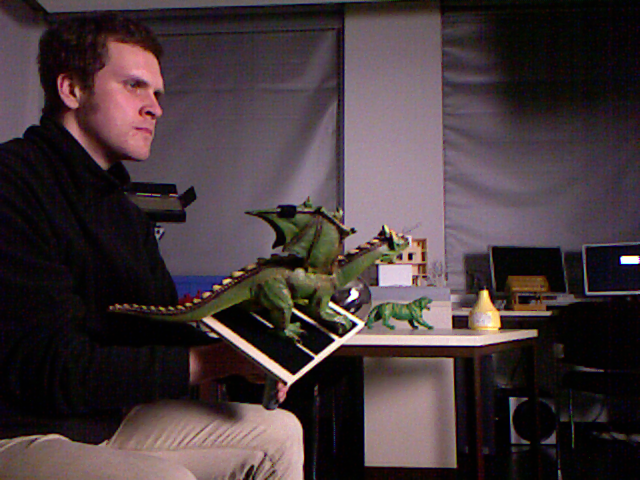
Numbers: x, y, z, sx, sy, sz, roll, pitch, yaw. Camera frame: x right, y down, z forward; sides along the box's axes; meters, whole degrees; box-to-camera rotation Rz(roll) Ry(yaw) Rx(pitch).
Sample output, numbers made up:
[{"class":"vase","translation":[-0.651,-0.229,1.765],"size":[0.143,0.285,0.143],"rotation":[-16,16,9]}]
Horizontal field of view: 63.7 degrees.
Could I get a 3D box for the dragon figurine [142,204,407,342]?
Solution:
[{"class":"dragon figurine","translation":[-0.055,0.038,0.781],"size":[0.411,0.237,0.125],"rotation":[-2,40,-19]}]
